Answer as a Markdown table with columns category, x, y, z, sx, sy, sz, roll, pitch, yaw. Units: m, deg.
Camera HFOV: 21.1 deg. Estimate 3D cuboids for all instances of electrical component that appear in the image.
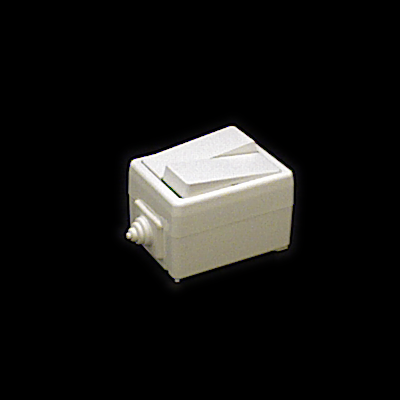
| category | x | y | z | sx | sy | sz | roll | pitch | yaw |
| --- | --- | --- | --- | --- | --- | --- | --- | --- | --- |
| electrical component | 0.000 | 0.000 | 0.633 | 0.096 | 0.061 | 0.061 | -15 | 35 | -25 |
